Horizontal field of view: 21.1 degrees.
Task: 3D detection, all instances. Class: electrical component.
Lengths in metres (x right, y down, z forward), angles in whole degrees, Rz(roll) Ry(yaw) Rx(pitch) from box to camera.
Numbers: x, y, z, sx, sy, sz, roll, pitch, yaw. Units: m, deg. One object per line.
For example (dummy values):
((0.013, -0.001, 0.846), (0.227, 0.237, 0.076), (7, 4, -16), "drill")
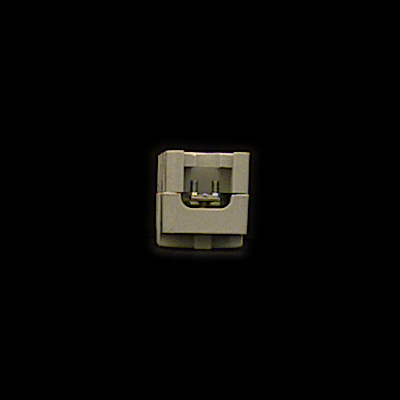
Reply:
((0.000, 0.000, 0.656), (0.050, 0.056, 0.089), (2, 1, -6), "electrical component")
